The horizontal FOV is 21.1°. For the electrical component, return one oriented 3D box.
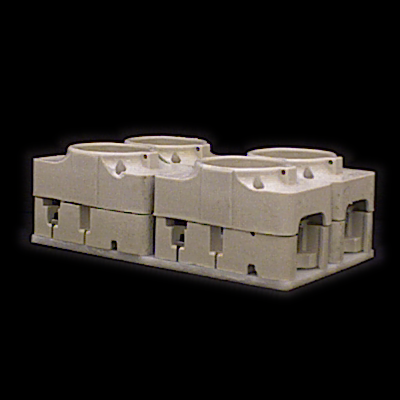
[{"bbox_3d":[0.000,0.000,0.645,0.185,0.061,0.105,8,12,34],"label":"electrical component"}]
